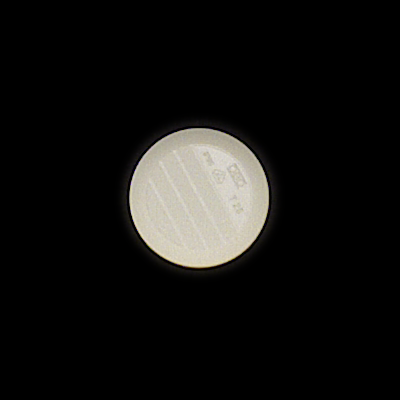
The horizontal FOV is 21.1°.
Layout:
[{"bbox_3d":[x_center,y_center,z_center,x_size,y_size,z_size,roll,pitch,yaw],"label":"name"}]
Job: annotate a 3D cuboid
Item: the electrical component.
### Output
[{"bbox_3d":[0.000,0.000,0.631,0.080,0.080,0.050,0,-6,0],"label":"electrical component"}]
